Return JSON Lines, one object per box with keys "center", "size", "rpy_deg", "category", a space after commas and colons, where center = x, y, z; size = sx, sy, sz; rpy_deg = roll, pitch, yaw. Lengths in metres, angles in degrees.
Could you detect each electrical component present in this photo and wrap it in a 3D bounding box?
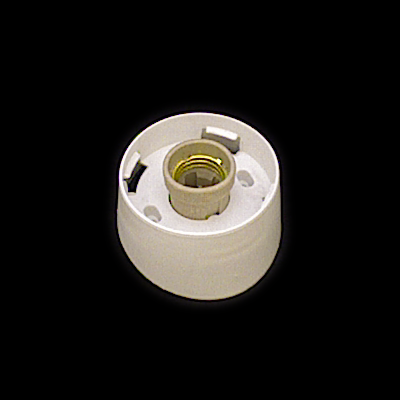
{"center": [0.000, 0.000, 0.627], "size": [0.099, 0.098, 0.064], "rpy_deg": [0, -37, -1], "category": "electrical component"}
